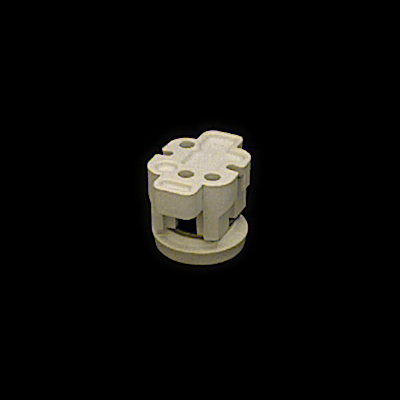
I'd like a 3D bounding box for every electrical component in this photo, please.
[{"bbox_3d":[0.000,0.000,0.644,0.057,0.057,0.078,13,33,19],"label":"electrical component"}]
